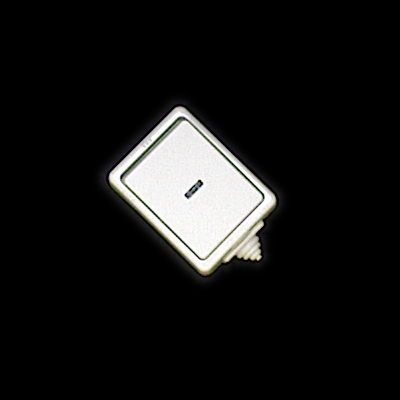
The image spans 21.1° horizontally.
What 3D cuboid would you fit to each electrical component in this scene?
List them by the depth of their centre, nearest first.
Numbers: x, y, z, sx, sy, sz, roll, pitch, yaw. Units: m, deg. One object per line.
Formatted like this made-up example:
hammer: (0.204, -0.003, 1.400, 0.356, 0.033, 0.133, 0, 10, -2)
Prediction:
electrical component: (0.000, 0.000, 0.626, 0.096, 0.062, 0.061, 44, -4, 5)
